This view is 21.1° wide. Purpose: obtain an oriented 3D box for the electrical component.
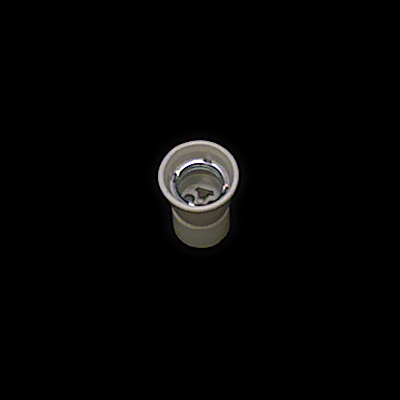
[{"bbox_3d":[0.000,0.000,0.624,0.044,0.044,0.065,0,-27,1],"label":"electrical component"}]
